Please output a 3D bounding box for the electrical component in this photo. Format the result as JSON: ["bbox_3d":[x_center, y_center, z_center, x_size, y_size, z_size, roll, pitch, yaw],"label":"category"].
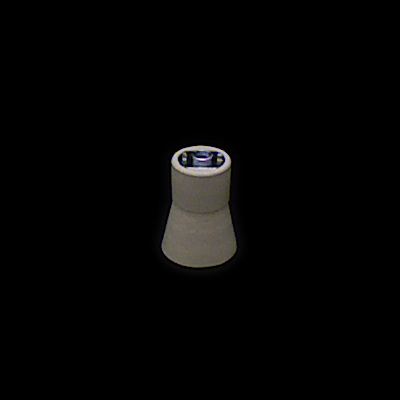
[{"bbox_3d":[0.000,0.000,0.631,0.044,0.066,0.044,1,32,0],"label":"electrical component"}]
